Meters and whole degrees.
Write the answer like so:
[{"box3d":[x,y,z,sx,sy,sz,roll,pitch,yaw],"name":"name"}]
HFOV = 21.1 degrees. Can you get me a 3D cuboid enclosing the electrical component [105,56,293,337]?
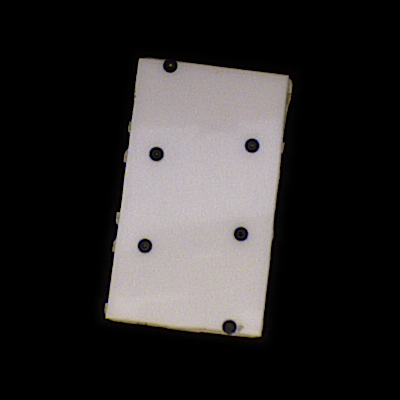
[{"box3d":[0.000,0.000,0.631,0.089,0.150,0.061,7,-6,0],"name":"electrical component"}]
